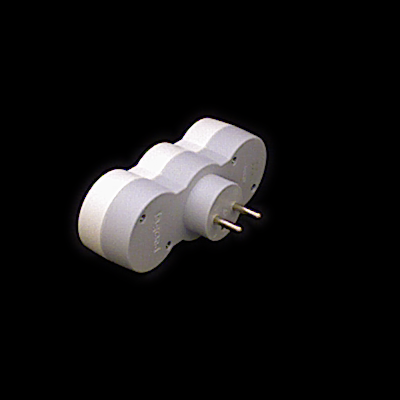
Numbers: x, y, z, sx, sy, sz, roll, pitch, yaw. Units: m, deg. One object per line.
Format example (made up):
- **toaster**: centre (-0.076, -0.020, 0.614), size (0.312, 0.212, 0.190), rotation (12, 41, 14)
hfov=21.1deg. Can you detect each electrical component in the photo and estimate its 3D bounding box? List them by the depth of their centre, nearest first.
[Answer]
- **electrical component**: centre (0.000, 0.000, 0.639), size (0.073, 0.053, 0.137), rotation (24, 37, 29)
